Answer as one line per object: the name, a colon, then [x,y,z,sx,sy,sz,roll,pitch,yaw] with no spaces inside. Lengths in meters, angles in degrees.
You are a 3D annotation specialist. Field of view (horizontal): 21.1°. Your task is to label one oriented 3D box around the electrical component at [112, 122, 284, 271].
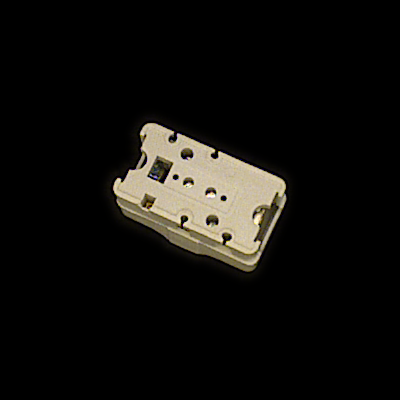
electrical component: [0.000,0.000,0.636,0.089,0.050,0.055,24,-14,7]
